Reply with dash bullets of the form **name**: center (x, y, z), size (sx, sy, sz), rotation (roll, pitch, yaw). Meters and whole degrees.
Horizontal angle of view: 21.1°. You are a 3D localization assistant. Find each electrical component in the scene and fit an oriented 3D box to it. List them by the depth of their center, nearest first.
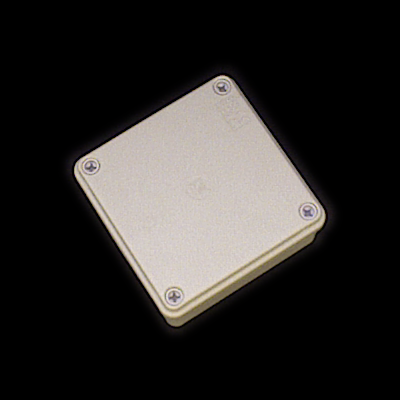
- **electrical component**: center (0.000, 0.000, 0.629), size (0.109, 0.109, 0.056), rotation (-32, -14, -9)
